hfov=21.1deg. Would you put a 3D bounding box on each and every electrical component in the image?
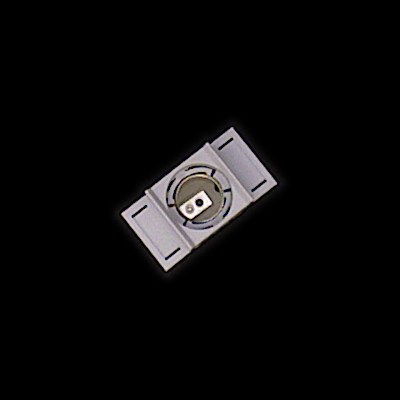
[{"bbox_3d":[0.000,0.000,0.624,0.081,0.042,0.063,-38,-4,-4],"label":"electrical component"}]
